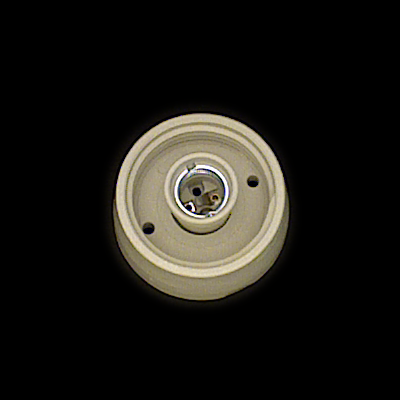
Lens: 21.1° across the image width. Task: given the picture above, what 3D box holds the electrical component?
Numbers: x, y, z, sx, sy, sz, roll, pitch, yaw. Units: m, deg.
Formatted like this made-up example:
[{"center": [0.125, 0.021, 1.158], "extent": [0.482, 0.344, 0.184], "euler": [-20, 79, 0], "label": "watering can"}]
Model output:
[{"center": [0.000, 0.000, 0.633], "extent": [0.108, 0.108, 0.060], "euler": [0, -16, 0], "label": "electrical component"}]
